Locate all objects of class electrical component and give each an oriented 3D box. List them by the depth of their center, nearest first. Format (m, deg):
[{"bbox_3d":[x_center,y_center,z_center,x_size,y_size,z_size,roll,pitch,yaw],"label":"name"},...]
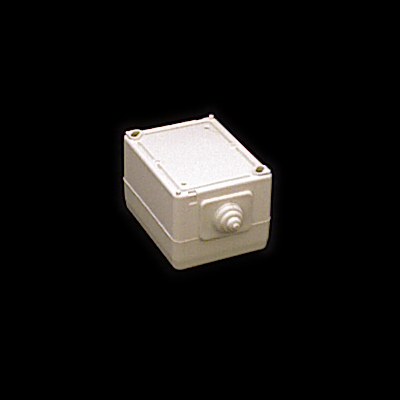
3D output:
[{"bbox_3d":[0.000,0.000,0.633,0.062,0.061,0.095,-13,35,-22],"label":"electrical component"}]
